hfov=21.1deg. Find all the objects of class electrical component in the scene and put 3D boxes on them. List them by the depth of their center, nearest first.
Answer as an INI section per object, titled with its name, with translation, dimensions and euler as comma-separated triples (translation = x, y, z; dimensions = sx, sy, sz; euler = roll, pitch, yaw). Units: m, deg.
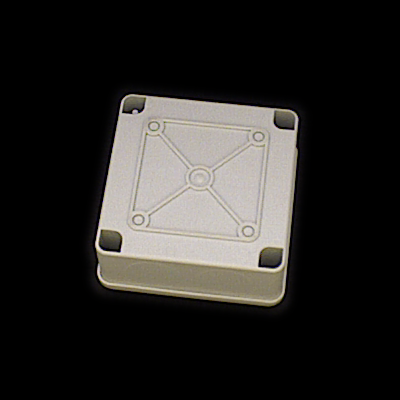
[electrical component]
translation = 0.000, 0.000, 0.628
dimensions = 0.109, 0.109, 0.056
euler = 6, -27, 3
